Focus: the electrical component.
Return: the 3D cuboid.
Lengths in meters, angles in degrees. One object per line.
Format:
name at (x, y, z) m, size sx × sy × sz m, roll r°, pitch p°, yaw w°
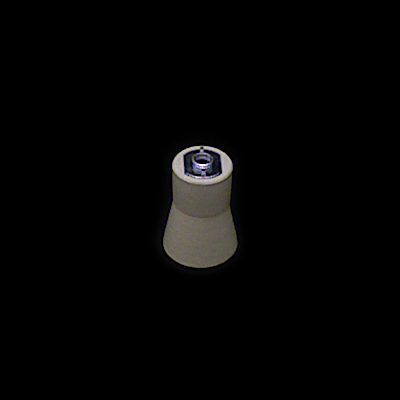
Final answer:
electrical component at (0.000, 0.000, 0.629) m, size 0.044 × 0.066 × 0.044 m, roll 1°, pitch 41°, yaw -1°
